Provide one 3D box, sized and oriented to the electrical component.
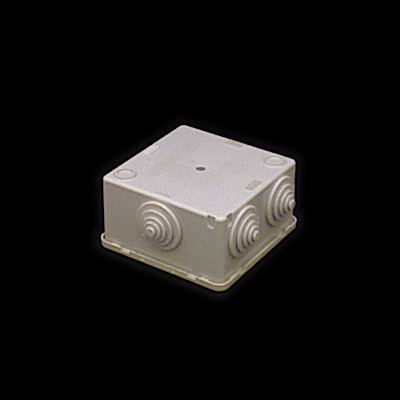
[{"bbox_3d":[0.000,0.000,0.636,0.099,0.049,0.099,20,36,28],"label":"electrical component"}]
